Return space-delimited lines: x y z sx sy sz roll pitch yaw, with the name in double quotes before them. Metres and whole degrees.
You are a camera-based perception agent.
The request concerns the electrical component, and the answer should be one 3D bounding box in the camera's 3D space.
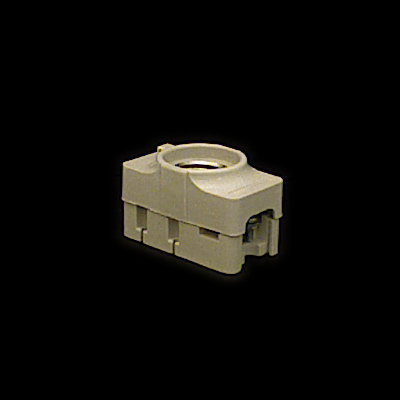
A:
"electrical component" 0.000 0.000 0.647 0.088 0.056 0.050 18 28 36
